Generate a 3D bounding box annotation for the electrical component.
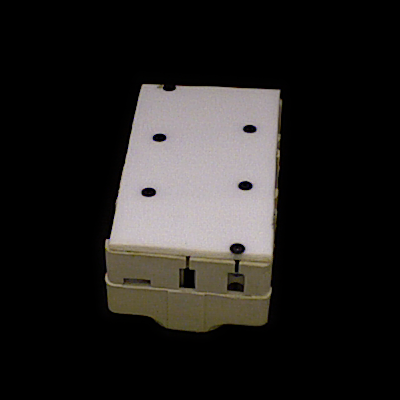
[{"bbox_3d":[0.000,0.000,0.634,0.089,0.063,0.147,4,42,4],"label":"electrical component"}]
